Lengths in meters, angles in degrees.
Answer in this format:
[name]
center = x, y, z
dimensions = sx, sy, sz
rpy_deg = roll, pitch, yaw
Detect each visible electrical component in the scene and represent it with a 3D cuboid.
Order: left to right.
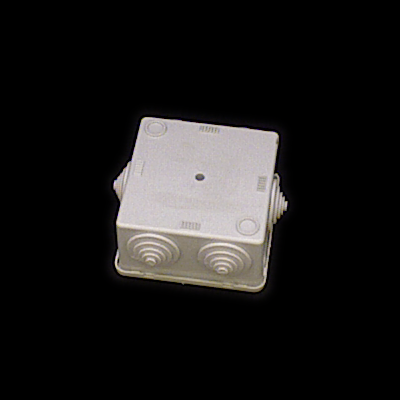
[electrical component]
center = 0.000, 0.000, 0.632
dimensions = 0.100, 0.099, 0.049
rpy_deg = 7, -37, 5
